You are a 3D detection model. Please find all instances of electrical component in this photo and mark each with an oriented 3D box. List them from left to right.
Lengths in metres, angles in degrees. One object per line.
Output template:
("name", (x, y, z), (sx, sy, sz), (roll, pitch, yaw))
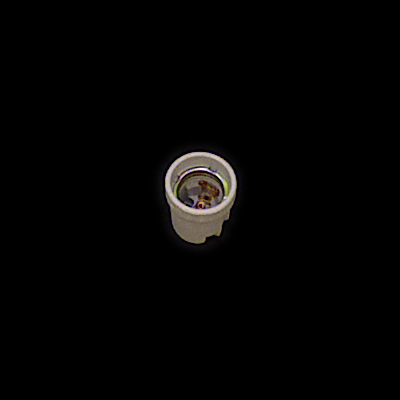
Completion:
("electrical component", (0.000, 0.000, 0.627), (0.040, 0.040, 0.046), (0, -27, 0))
